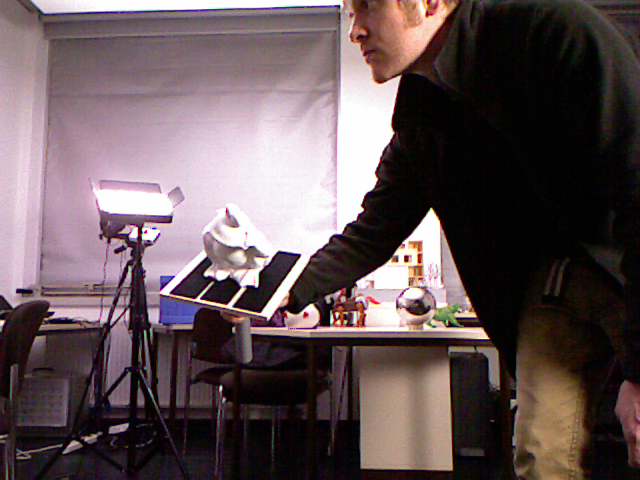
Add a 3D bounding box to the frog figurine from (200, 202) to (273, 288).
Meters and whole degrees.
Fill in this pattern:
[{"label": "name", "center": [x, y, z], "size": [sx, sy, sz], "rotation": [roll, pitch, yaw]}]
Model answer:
[{"label": "frog figurine", "center": [-0.151, -0.005, 0.909], "size": [0.139, 0.156, 0.125], "rotation": [22, 36, 30]}]
